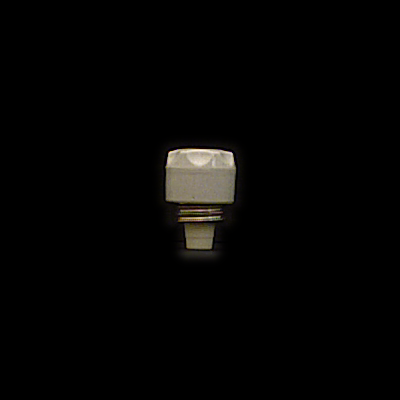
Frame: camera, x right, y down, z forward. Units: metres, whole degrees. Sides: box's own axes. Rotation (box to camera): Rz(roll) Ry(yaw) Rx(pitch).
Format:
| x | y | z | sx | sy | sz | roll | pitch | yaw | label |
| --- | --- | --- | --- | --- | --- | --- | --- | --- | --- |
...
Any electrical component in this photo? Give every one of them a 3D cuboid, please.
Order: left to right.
| x | y | z | sx | sy | sz | roll | pitch | yaw | label |
| --- | --- | --- | --- | --- | --- | --- | --- | --- | --- |
| 0.000 | 0.000 | 0.656 | 0.043 | 0.062 | 0.043 | 1 | 2 | 0 | electrical component |
